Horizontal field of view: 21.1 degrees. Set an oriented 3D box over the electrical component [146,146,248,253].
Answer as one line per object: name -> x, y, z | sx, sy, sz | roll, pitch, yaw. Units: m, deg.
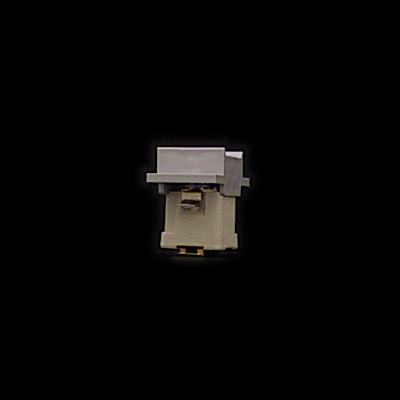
electrical component -> 0.000, 0.000, 0.652 | 0.042, 0.064, 0.081 | 1, 1, 17
